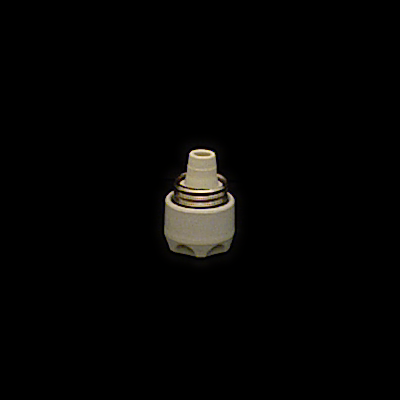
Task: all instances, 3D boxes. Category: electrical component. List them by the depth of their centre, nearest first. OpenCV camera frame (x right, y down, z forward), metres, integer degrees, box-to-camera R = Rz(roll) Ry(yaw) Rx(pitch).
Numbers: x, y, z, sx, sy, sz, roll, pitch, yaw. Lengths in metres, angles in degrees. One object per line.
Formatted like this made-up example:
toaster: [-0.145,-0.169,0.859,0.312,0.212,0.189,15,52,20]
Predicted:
electrical component: [0.000,0.000,0.645,0.043,0.063,0.043,2,23,0]
